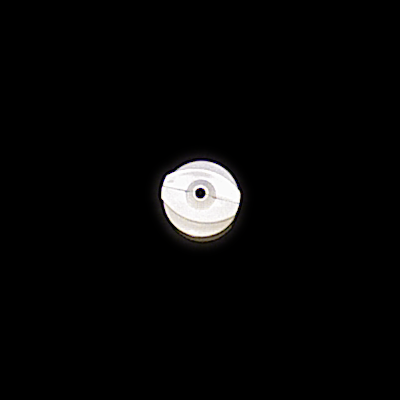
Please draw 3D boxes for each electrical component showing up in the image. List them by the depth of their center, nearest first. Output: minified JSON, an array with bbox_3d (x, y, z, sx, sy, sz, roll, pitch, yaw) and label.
[{"bbox_3d":[0.000,0.000,0.616,0.043,0.043,0.080,0,-6,1],"label":"electrical component"}]
